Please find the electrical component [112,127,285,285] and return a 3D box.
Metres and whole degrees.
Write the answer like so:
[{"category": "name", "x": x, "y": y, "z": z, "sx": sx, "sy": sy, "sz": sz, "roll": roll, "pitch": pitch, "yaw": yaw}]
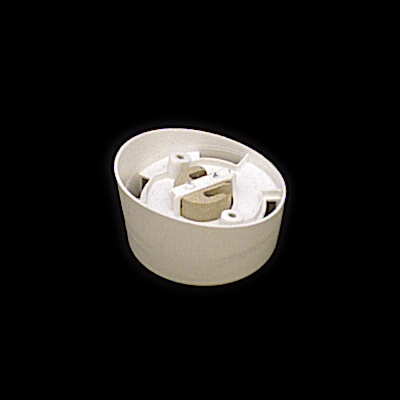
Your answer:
[{"category": "electrical component", "x": 0.000, "y": 0.000, "z": 0.628, "sx": 0.099, "sy": 0.064, "sz": 0.098, "roll": 0, "pitch": 42, "yaw": 0}]
